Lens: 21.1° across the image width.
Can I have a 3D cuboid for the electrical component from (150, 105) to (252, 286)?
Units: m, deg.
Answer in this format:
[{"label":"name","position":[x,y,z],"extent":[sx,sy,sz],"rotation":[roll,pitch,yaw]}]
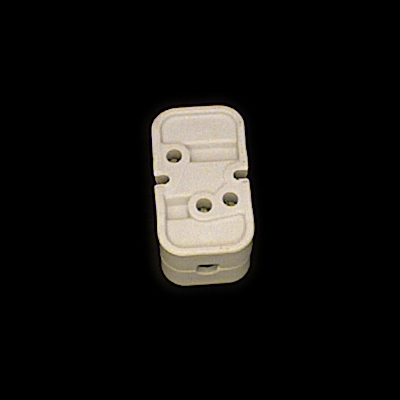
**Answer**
[{"label":"electrical component","position":[0.000,0.000,0.636],"extent":[0.054,0.095,0.059],"rotation":[-4,-27,-2]}]
